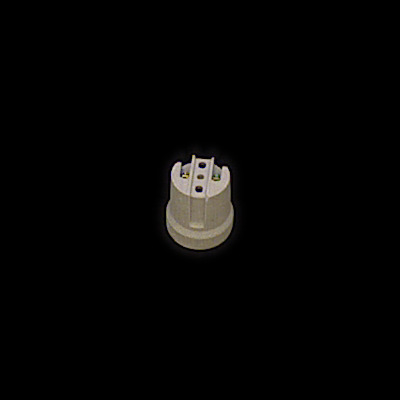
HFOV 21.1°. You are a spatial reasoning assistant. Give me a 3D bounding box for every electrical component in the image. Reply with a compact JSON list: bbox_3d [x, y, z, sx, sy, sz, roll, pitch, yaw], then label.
[{"bbox_3d":[0.000,0.000,0.635,0.040,0.040,0.046,0,-37,-1],"label":"electrical component"}]
